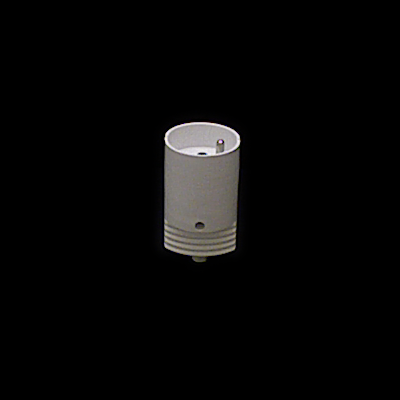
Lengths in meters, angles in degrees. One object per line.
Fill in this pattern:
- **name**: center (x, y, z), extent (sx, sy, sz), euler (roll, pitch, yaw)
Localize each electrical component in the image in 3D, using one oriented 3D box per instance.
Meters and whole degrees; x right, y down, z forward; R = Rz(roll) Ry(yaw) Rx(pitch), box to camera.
- **electrical component**: center (0.000, 0.000, 0.630), extent (0.043, 0.082, 0.042), euler (1, 32, -1)
